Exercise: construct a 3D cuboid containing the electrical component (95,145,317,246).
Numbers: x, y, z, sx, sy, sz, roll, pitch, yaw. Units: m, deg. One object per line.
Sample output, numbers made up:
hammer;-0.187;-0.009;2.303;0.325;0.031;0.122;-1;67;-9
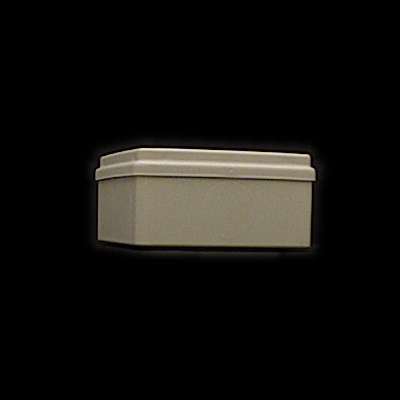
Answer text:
electrical component;0.000;0.000;0.650;0.109;0.056;0.108;1;0;-19
